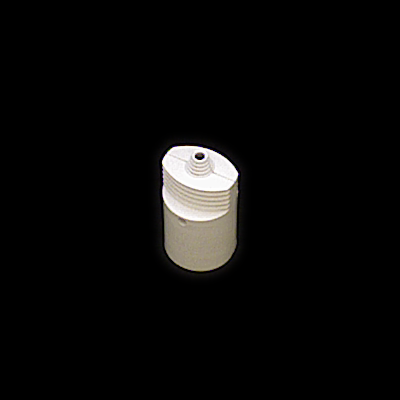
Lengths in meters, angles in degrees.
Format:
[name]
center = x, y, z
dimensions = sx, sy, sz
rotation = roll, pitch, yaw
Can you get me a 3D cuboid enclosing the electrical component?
[electrical component]
center = 0.000, 0.000, 0.620
dimensions = 0.043, 0.043, 0.081
rotation = 0, -38, 0
